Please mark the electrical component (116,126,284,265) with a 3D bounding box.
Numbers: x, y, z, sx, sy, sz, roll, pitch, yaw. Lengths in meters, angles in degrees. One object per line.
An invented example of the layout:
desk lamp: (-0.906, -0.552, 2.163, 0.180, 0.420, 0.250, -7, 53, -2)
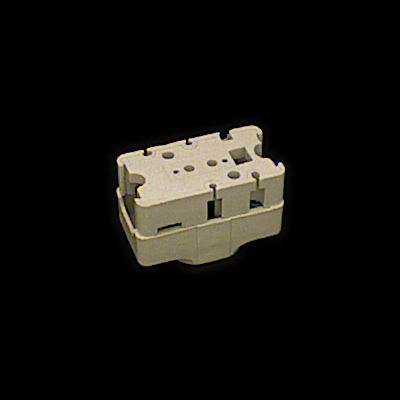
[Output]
electrical component: (0.000, 0.000, 0.640, 0.090, 0.056, 0.049, -13, 44, -15)
